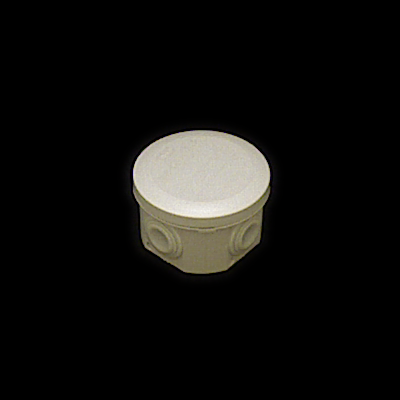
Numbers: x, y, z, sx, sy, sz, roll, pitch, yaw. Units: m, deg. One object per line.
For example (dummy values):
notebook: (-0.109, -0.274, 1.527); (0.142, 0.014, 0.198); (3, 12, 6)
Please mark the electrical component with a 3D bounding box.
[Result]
electrical component: (0.000, 0.000, 0.635); (0.080, 0.051, 0.079); (1, 42, 0)
